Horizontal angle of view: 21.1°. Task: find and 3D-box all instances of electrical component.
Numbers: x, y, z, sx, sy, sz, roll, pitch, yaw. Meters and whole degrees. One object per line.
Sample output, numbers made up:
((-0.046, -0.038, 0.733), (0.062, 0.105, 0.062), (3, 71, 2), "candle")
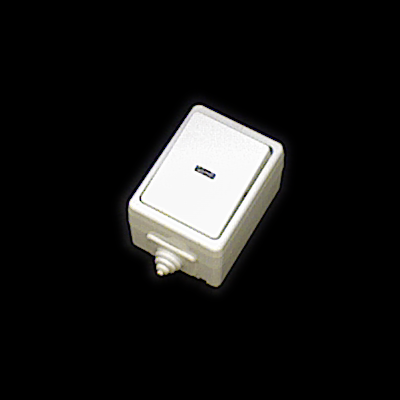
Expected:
((0.000, 0.000, 0.625), (0.061, 0.097, 0.060), (27, -24, 13), "electrical component")
